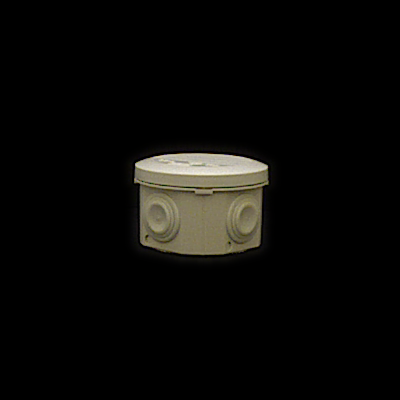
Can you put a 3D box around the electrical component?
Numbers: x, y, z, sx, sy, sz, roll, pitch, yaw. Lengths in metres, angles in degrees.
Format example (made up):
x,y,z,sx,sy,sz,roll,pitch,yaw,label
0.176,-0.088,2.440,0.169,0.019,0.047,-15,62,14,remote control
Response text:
x,y,z,sx,sy,sz,roll,pitch,yaw,label
0.000,0.000,0.646,0.080,0.051,0.079,1,10,0,electrical component
